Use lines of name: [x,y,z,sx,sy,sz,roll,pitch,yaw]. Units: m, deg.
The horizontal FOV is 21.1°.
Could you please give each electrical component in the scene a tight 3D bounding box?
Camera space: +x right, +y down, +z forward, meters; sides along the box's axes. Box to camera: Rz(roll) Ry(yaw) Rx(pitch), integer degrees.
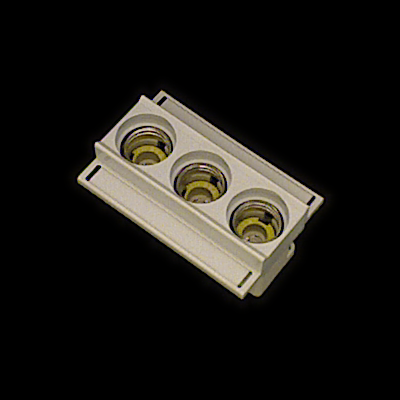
electrical component: [0.000,0.000,0.638,0.121,0.079,0.063,35,-23,16]
